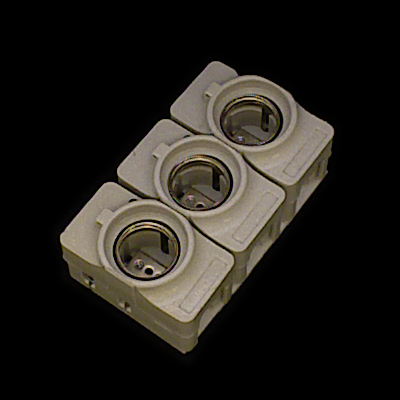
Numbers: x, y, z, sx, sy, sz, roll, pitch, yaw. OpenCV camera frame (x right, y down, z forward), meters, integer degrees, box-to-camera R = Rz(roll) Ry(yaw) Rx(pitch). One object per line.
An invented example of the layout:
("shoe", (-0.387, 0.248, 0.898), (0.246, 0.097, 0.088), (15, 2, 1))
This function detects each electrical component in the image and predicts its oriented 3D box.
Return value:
("electrical component", (0.000, 0.000, 0.631), (0.089, 0.150, 0.062), (32, -23, 16))
